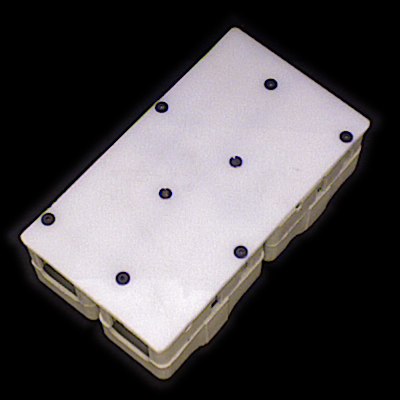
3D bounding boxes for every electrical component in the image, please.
[{"bbox_3d":[0.000,0.000,0.625,0.105,0.187,0.060,37,-21,17],"label":"electrical component"}]
